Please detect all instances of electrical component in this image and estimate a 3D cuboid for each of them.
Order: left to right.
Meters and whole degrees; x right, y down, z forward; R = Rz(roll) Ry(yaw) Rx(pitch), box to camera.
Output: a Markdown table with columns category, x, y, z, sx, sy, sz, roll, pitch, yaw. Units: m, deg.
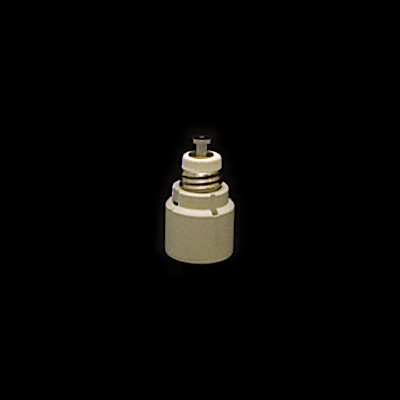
| category | x | y | z | sx | sy | sz | roll | pitch | yaw |
| --- | --- | --- | --- | --- | --- | --- | --- | --- | --- |
| electrical component | 0.000 | 0.000 | 0.637 | 0.040 | 0.079 | 0.039 | 2 | 22 | 0 |
